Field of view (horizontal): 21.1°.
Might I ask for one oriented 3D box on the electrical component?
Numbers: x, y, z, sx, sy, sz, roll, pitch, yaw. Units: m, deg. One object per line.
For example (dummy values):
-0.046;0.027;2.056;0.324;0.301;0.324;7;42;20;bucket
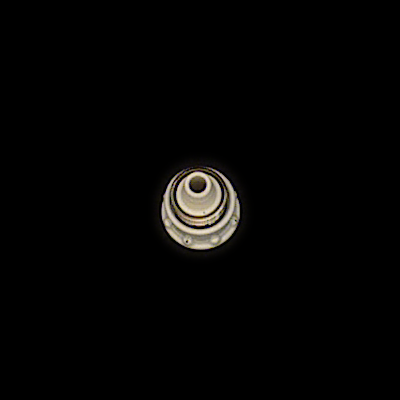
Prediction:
0.000;0.000;0.633;0.048;0.048;0.061;0;-17;1;electrical component
